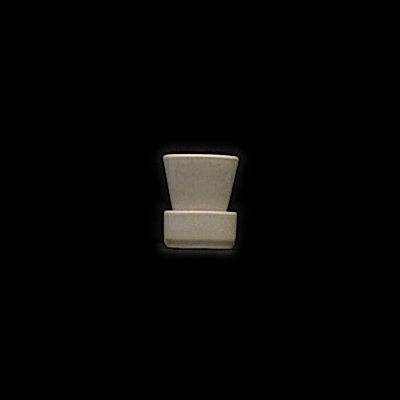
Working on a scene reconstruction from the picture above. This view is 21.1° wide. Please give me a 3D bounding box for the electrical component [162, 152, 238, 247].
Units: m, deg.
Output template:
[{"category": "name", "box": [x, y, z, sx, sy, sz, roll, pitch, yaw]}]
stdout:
[{"category": "electrical component", "box": [0.000, 0.000, 0.650, 0.045, 0.055, 0.045, 2, 0, 0]}]
